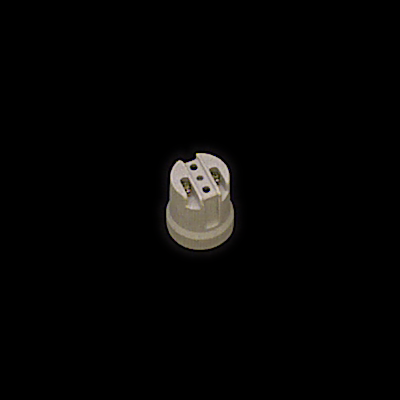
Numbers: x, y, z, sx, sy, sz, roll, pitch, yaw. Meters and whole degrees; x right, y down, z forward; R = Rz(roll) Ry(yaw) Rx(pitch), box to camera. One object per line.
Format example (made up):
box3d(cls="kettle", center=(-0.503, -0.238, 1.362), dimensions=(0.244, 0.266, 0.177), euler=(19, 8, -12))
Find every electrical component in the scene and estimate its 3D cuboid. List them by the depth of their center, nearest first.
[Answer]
box3d(cls="electrical component", center=(0.000, 0.000, 0.633), dimensions=(0.040, 0.040, 0.046), euler=(0, -37, 0))
